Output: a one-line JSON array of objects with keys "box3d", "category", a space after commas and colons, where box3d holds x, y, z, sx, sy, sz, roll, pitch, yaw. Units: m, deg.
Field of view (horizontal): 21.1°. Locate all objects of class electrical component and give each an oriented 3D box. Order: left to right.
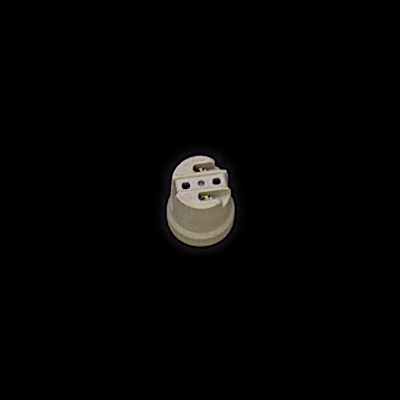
[{"box3d": [0.000, 0.000, 0.633, 0.040, 0.040, 0.046, 0, -26, 0], "category": "electrical component"}]
